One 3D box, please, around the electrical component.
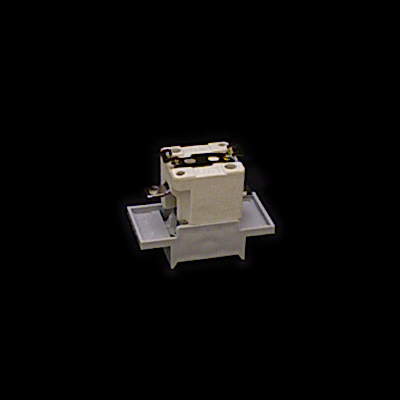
[{"bbox_3d":[0.000,0.000,0.634,0.081,0.064,0.041,-7,32,-13],"label":"electrical component"}]
